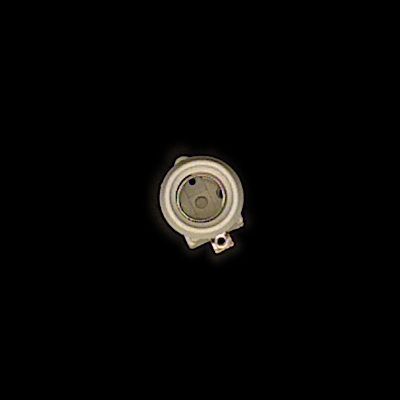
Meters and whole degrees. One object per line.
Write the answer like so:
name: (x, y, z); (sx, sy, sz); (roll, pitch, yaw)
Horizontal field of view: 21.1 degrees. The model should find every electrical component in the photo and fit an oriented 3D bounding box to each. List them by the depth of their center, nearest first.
electrical component: (0.000, 0.000, 0.639); (0.048, 0.066, 0.055); (-27, -6, 0)
